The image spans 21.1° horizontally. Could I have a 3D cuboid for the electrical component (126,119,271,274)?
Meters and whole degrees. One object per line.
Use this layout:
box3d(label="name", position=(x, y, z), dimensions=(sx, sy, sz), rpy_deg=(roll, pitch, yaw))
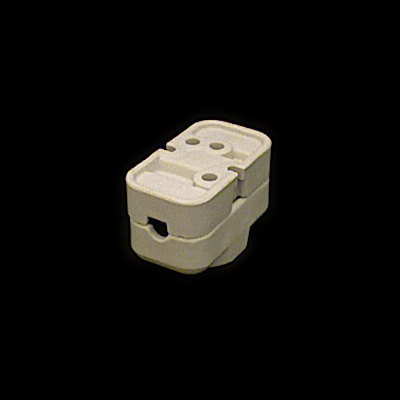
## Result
box3d(label="electrical component", position=(0.000, 0.000, 0.641), dimensions=(0.053, 0.060, 0.095), rpy_deg=(18, 37, 26))
